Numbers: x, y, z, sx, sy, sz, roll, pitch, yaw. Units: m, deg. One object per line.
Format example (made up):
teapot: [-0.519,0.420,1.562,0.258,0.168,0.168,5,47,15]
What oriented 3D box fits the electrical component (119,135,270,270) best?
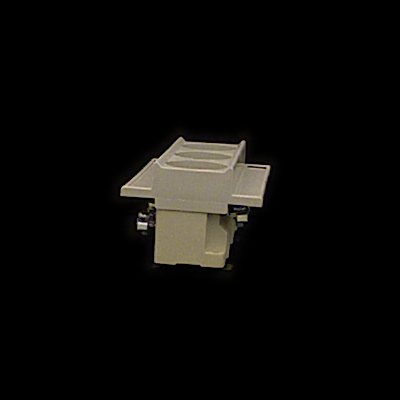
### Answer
electrical component: [0.000,0.000,0.658,0.078,0.063,0.120,4,11,5]
